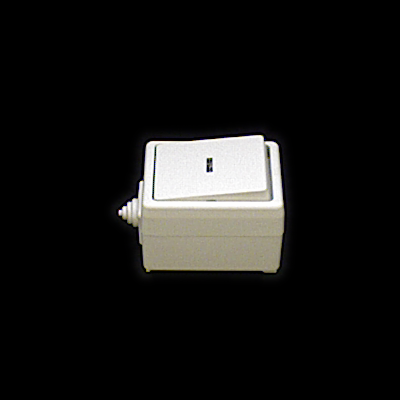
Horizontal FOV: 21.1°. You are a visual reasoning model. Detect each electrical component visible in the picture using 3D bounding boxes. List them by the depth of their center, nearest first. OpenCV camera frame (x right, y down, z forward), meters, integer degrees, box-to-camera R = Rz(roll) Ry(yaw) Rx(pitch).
[{"bbox_3d":[0.000,0.000,0.630,0.096,0.061,0.061,0,42,0],"label":"electrical component"}]
